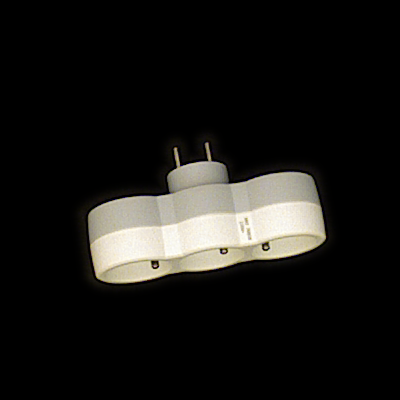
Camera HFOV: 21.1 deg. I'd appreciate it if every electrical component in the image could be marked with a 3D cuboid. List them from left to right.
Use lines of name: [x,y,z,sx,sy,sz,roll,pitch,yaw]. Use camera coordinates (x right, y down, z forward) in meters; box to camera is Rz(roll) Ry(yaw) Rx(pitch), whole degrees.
electrical component: [0.000,0.000,0.639,0.138,0.074,0.052,-9,-18,-3]
